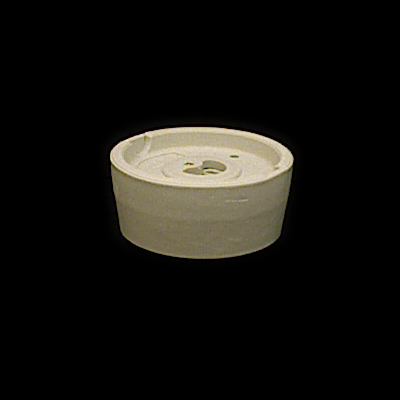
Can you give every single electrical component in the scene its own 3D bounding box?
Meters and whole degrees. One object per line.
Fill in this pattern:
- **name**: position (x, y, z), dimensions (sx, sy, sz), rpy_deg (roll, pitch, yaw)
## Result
- **electrical component**: position (0.000, 0.000, 0.645), dimensions (0.108, 0.061, 0.106), rpy_deg (2, 22, 0)
